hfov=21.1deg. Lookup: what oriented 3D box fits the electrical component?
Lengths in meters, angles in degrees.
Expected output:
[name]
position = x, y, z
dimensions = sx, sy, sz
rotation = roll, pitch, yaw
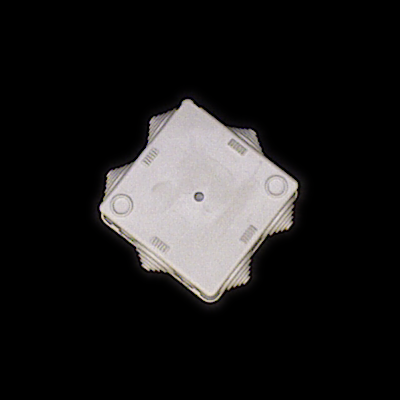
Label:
[electrical component]
position = 0.000, 0.000, 0.633
dimensions = 0.100, 0.100, 0.048
rotation = 38, -5, 4
